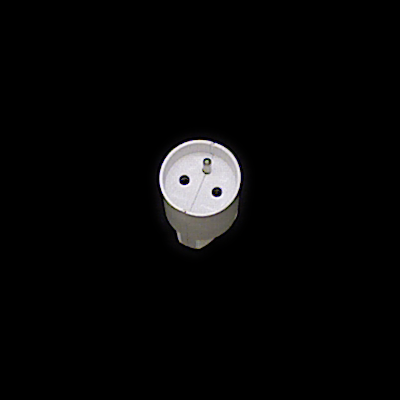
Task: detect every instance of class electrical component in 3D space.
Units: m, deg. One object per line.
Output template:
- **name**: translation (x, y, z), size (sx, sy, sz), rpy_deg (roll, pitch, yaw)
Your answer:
- **electrical component**: translation (0.000, 0.000, 0.616), size (0.043, 0.043, 0.080), rpy_deg (0, -17, -1)
